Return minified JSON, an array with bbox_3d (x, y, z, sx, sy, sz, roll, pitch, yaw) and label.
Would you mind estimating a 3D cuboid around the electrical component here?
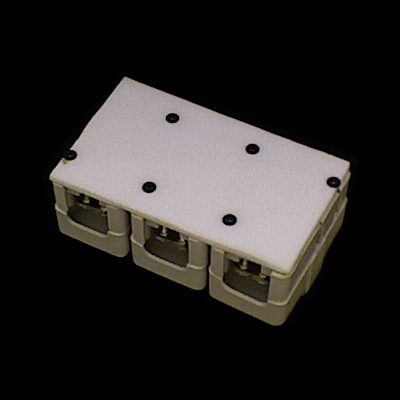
[{"bbox_3d":[0.000,0.000,0.634,0.150,0.088,0.062,23,-34,16],"label":"electrical component"}]
